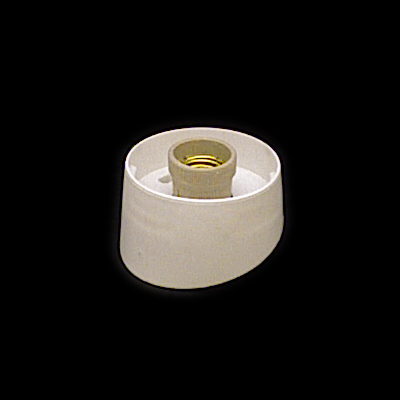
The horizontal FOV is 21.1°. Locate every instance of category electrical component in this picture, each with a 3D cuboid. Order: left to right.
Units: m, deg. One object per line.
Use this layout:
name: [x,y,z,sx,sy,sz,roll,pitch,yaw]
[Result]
electrical component: [0.000,0.000,0.634,0.099,0.065,0.097,1,32,0]
